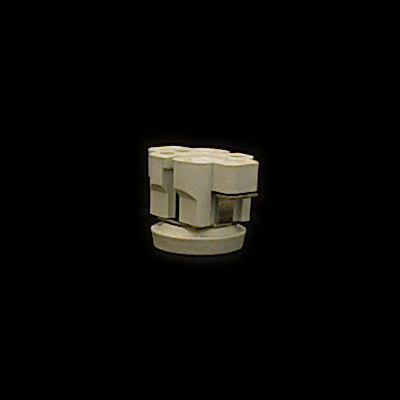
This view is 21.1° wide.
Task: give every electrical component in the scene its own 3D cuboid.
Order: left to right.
[{"bbox_3d":[0.000,0.000,0.651,0.058,0.057,0.077,-8,16,-42],"label":"electrical component"}]
